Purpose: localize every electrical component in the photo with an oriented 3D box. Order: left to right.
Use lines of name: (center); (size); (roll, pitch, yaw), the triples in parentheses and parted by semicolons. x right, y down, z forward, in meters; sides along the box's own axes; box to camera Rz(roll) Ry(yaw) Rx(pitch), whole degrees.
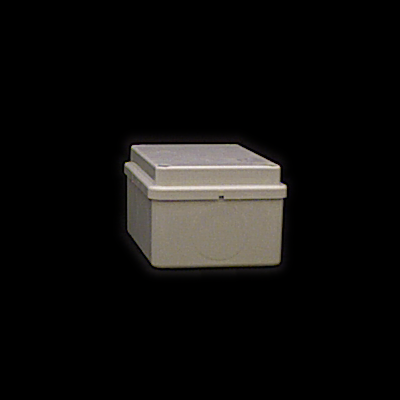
electrical component: (0.000, 0.000, 0.644); (0.078, 0.057, 0.112); (-1, 10, -12)
